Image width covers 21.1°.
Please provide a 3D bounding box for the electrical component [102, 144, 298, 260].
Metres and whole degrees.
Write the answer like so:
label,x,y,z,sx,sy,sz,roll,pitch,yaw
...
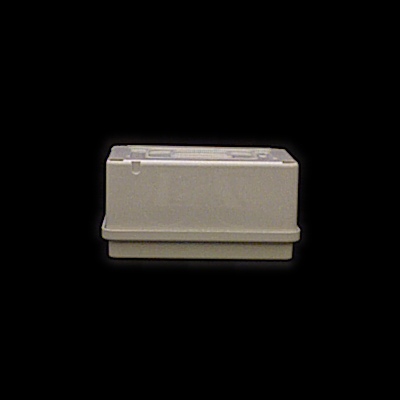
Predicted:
label,x,y,z,sx,sy,sz,roll,pitch,yaw
electrical component,0.000,0.000,0.644,0.113,0.057,0.077,1,10,-2
